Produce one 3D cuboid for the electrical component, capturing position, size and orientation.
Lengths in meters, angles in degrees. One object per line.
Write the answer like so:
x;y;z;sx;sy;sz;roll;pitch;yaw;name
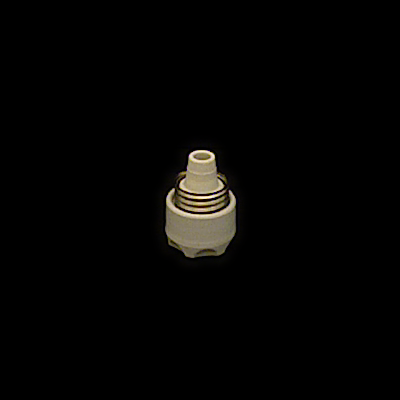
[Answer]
0.000;0.000;0.642;0.043;0.063;0.043;1;31;0;electrical component
